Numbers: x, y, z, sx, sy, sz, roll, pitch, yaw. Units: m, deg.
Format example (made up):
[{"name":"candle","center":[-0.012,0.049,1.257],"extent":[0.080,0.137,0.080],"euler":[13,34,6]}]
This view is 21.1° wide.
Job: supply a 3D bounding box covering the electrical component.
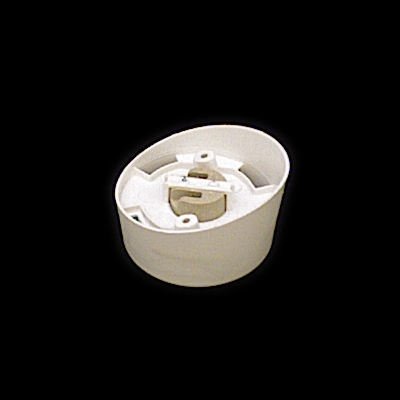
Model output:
[{"name":"electrical component","center":[0.000,0.000,0.630],"extent":[0.099,0.065,0.097],"euler":[1,41,-1]}]
